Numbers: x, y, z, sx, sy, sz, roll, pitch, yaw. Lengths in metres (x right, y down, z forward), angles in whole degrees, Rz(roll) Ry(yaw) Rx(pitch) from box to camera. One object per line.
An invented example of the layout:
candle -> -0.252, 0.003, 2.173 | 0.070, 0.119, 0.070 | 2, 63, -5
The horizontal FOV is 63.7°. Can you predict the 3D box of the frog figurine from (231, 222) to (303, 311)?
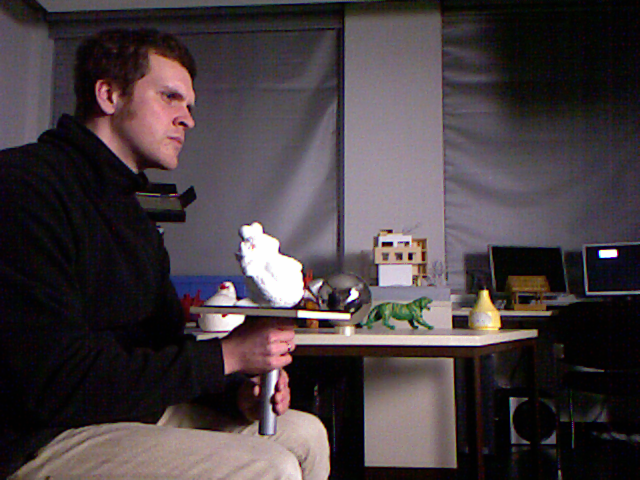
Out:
frog figurine -> -0.091, 0.048, 0.910 | 0.137, 0.160, 0.122 | 5, -6, -40
